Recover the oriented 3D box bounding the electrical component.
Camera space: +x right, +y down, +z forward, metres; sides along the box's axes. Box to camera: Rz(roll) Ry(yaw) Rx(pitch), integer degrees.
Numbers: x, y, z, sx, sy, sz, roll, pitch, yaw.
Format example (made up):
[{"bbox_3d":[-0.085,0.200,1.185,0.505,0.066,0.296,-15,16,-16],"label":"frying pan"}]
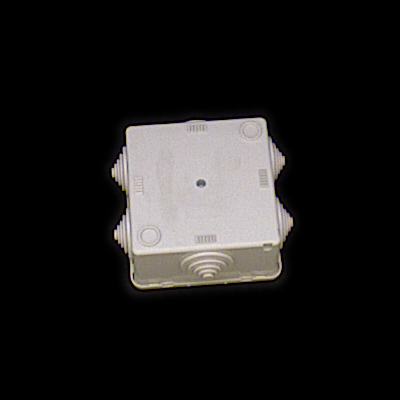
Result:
[{"bbox_3d":[0.000,0.000,0.631,0.100,0.100,0.048,-4,-27,-2],"label":"electrical component"}]
